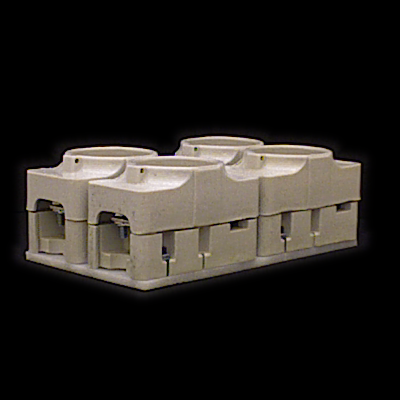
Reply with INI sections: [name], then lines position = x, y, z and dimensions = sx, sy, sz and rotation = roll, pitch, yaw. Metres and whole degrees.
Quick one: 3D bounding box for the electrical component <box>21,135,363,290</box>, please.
[electrical component]
position = 0.000, 0.000, 0.643
dimensions = 0.186, 0.061, 0.105
rotation = -9, 14, -44
